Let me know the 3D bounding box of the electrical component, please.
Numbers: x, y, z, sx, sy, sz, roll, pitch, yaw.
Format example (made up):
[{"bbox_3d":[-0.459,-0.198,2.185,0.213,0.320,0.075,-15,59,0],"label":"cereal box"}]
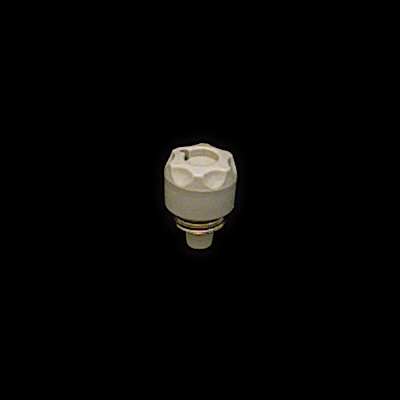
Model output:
[{"bbox_3d":[0.000,0.000,0.642,0.043,0.063,0.043,2,32,0],"label":"electrical component"}]
